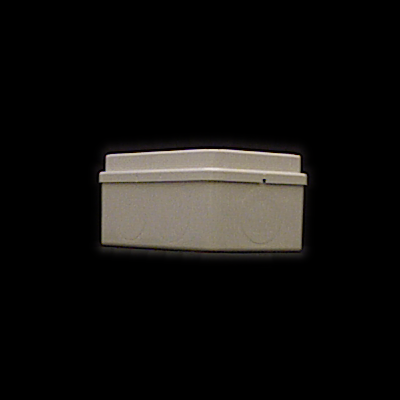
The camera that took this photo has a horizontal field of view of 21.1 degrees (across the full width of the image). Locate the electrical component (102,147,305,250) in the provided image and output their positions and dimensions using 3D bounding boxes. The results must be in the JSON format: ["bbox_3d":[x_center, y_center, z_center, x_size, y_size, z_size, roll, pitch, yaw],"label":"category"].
[{"bbox_3d":[0.000,0.000,0.651,0.078,0.057,0.113,1,0,-40],"label":"electrical component"}]
